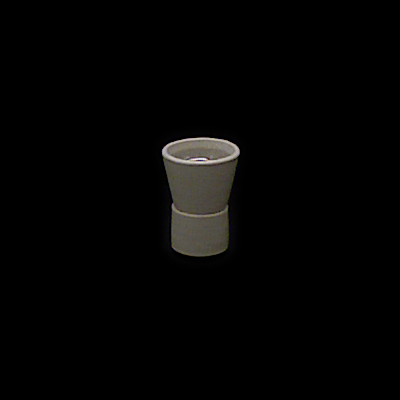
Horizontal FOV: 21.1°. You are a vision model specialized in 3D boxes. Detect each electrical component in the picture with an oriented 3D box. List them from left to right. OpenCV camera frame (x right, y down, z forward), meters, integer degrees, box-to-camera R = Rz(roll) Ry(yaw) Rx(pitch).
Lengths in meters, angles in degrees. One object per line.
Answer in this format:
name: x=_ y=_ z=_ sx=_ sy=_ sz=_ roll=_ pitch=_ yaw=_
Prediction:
electrical component: x=0.000 y=0.000 z=0.636 sx=0.044 sy=0.066 sz=0.044 roll=1 pitch=22 yaw=0
